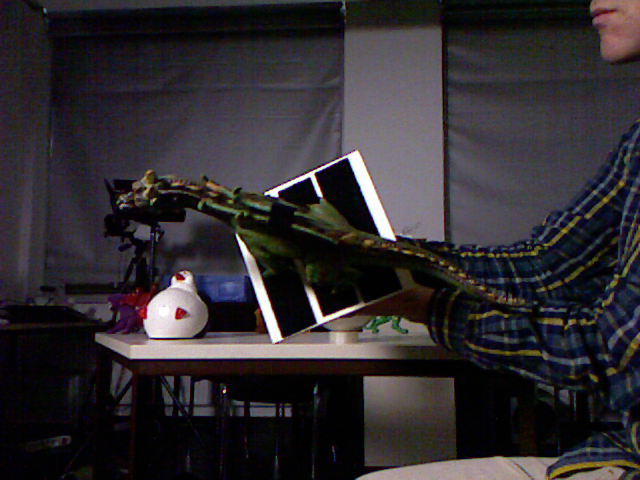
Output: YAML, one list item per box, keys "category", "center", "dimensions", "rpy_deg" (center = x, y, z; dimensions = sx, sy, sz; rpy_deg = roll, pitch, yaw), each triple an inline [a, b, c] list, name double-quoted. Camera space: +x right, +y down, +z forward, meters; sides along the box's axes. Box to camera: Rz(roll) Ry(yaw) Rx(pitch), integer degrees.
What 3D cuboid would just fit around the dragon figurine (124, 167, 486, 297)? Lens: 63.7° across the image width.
- category: "dragon figurine"
  center: [-0.019, -0.013, 0.570]
  dimensions: [0.412, 0.124, 0.241]
  rpy_deg: [9, -10, 14]
